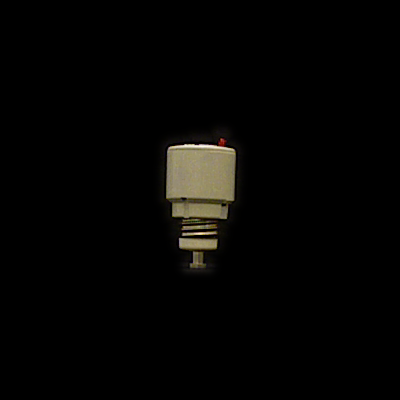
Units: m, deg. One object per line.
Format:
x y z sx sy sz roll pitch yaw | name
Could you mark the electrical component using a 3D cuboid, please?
0.000 0.000 0.647 0.040 0.078 0.040 2 1 0 | electrical component
